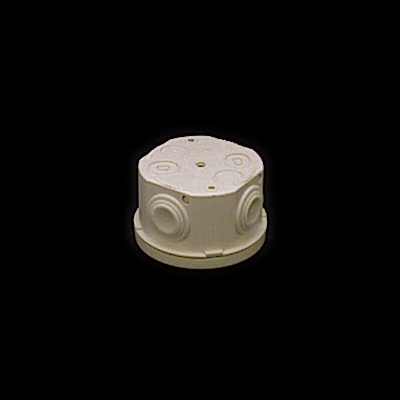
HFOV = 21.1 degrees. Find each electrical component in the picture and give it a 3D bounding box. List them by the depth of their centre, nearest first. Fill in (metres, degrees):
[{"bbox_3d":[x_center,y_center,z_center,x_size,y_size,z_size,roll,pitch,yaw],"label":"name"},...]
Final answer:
[{"bbox_3d":[0.000,0.000,0.638,0.080,0.051,0.079,1,31,0],"label":"electrical component"}]
